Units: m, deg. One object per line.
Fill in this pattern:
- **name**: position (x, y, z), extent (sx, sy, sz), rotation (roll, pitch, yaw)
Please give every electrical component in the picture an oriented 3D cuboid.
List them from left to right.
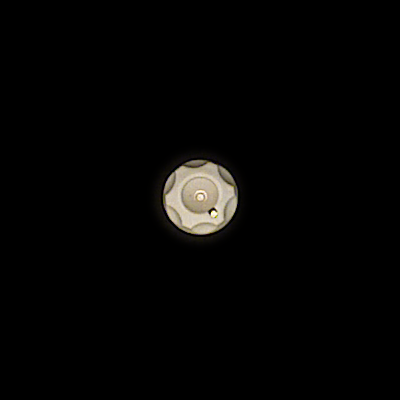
- **electrical component**: position (0.000, 0.000, 0.635), extent (0.043, 0.043, 0.062), rotation (0, -6, 2)
